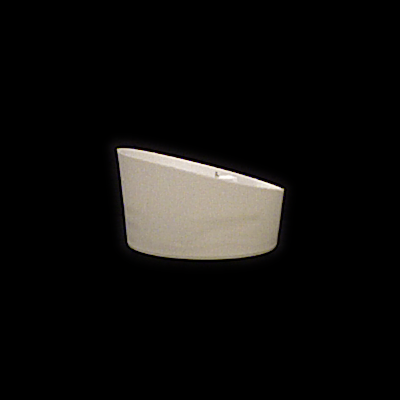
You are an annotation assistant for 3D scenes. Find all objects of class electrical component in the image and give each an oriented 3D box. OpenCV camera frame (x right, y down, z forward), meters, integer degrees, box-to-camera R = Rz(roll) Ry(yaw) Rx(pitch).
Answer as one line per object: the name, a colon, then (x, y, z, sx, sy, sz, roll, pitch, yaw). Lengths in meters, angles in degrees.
electrical component: (0.000, 0.000, 0.642, 0.099, 0.064, 0.098, 1, 11, 0)
